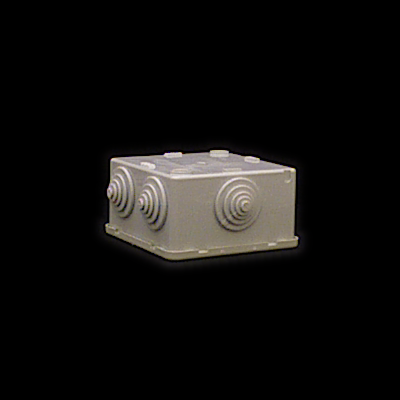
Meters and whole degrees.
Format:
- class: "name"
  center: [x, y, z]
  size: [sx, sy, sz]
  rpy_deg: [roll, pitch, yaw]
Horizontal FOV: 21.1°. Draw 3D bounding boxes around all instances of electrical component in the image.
- class: "electrical component"
  center: [0.000, 0.000, 0.644]
  size: [0.100, 0.049, 0.099]
  rpy_deg: [-5, 12, -30]
